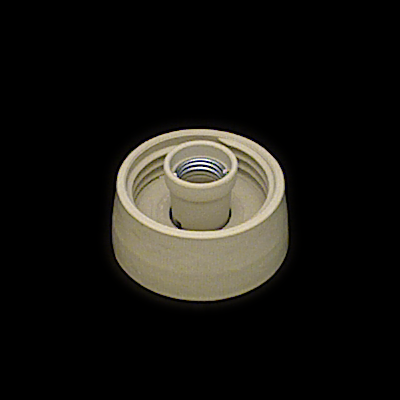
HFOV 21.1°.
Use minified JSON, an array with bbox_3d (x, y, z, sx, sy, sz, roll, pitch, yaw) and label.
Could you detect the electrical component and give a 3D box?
[{"bbox_3d":[0.000,0.000,0.639,0.108,0.061,0.106,1,42,0],"label":"electrical component"}]
